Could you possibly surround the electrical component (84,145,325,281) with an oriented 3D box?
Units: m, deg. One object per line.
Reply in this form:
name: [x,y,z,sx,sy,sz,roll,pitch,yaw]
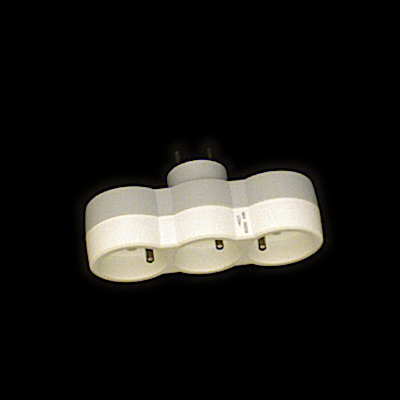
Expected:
electrical component: [0.000,0.000,0.639,0.138,0.073,0.052,-6,-28,-4]
